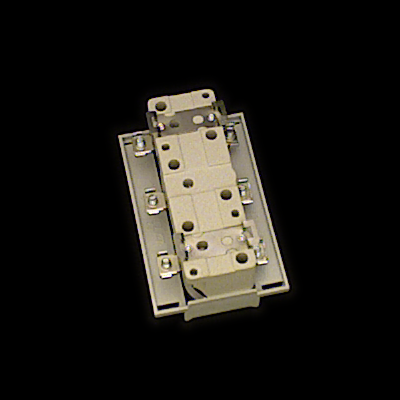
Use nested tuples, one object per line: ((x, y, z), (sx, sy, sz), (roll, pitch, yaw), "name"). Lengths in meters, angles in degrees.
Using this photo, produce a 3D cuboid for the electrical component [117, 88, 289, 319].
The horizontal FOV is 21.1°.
((0.000, 0.000, 0.634), (0.079, 0.121, 0.063), (-11, -26, -6), "electrical component")
